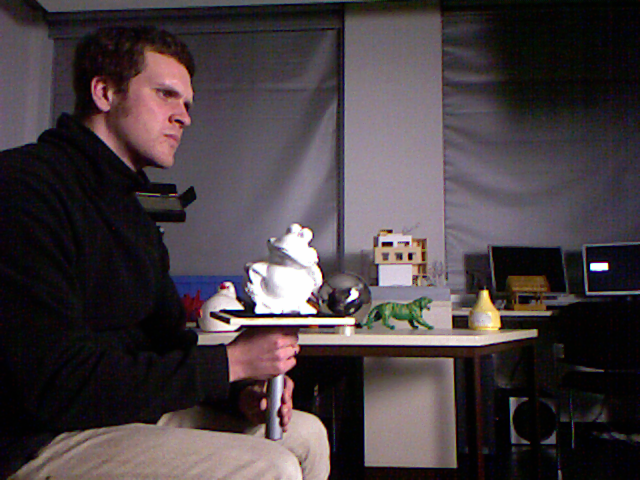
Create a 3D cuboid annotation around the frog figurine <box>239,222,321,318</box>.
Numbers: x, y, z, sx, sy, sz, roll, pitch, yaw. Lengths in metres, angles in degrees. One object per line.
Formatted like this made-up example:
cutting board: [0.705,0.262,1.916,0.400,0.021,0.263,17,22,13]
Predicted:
frog figurine: [-0.066,0.049,0.883,0.137,0.160,0.122,4,-2,1]
